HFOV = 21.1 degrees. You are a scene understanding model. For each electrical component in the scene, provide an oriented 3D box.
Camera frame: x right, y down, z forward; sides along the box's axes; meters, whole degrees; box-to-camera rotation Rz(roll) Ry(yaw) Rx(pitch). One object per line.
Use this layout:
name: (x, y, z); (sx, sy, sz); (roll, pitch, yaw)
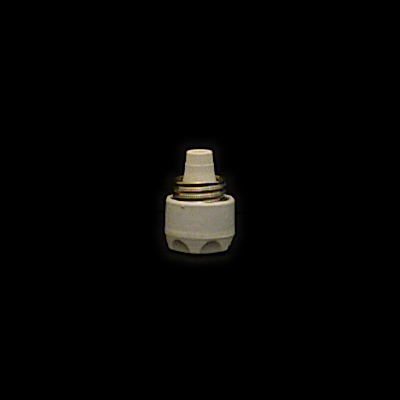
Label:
electrical component: (0.000, 0.000, 0.651); (0.043, 0.062, 0.043); (0, 12, 1)
